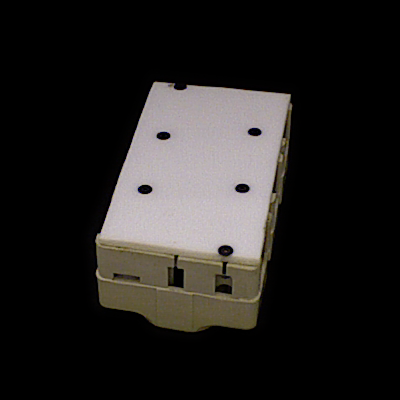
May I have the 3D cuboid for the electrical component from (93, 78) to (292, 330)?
[{"bbox_3d":[0.000,0.000,0.634,0.089,0.063,0.147,7,43,8],"label":"electrical component"}]
